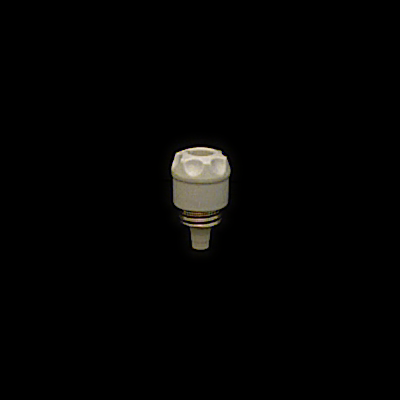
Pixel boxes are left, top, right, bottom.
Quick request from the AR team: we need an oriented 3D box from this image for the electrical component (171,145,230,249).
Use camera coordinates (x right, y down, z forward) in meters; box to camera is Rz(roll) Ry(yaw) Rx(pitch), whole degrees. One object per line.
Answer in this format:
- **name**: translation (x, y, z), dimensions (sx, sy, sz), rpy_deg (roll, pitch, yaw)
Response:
- **electrical component**: translation (0.000, 0.000, 0.647), dimensions (0.035, 0.062, 0.034), rpy_deg (1, 22, 0)
